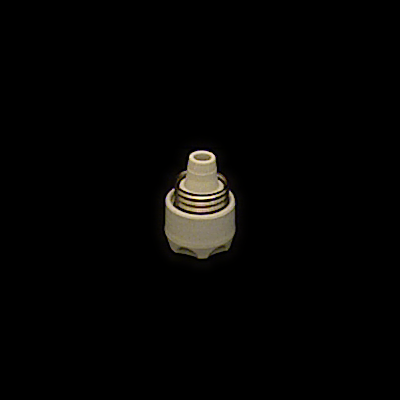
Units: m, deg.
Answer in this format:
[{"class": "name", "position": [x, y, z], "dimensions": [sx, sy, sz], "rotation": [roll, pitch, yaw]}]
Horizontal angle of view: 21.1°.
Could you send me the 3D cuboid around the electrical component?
[{"class": "electrical component", "position": [0.000, 0.000, 0.642], "dimensions": [0.043, 0.063, 0.043], "rotation": [2, 32, -1]}]
